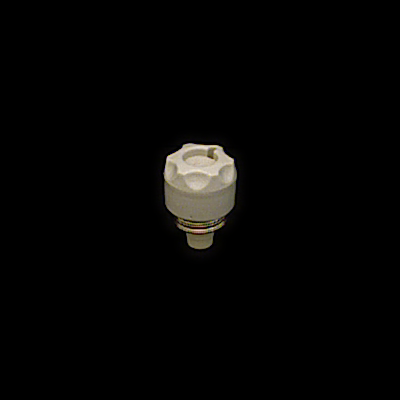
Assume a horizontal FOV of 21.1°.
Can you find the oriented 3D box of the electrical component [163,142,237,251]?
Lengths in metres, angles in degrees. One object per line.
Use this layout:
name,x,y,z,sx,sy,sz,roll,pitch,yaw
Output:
electrical component,0.000,0.000,0.640,0.043,0.063,0.043,1,33,0
